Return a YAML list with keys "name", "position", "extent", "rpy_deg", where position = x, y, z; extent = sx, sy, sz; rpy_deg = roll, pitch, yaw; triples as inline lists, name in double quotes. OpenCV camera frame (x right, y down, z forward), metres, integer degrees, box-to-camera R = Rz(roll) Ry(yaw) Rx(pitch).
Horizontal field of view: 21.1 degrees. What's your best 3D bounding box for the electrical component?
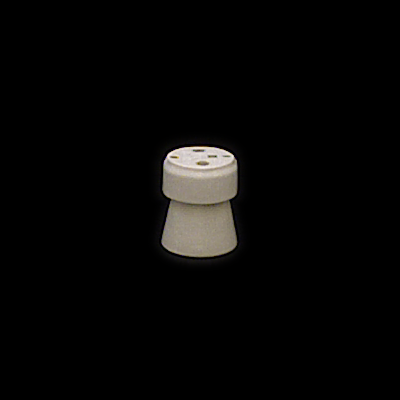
- name: "electrical component"
  position: [0.000, 0.000, 0.638]
  extent: [0.045, 0.056, 0.044]
  rpy_deg: [1, 22, 0]
